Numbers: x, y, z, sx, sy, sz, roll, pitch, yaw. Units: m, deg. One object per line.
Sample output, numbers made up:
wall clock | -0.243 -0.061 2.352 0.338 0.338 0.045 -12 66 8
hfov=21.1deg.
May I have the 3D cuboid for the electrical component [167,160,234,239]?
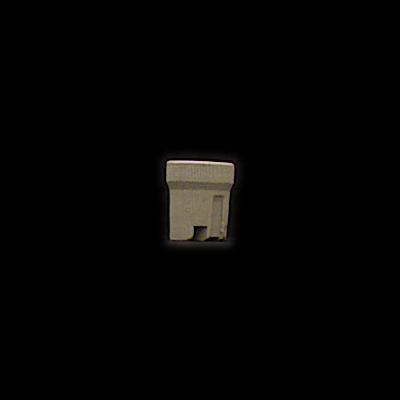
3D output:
electrical component | 0.000 0.000 0.647 0.040 0.046 0.040 1 1 0
